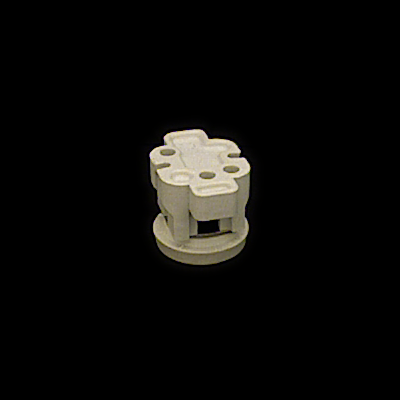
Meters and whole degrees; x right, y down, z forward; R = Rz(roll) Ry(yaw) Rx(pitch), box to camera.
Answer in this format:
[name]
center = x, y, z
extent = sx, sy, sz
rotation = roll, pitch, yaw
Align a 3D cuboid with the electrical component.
[electrical component]
center = 0.000, 0.000, 0.643
extent = 0.058, 0.057, 0.077
rotation = -9, 32, -14
